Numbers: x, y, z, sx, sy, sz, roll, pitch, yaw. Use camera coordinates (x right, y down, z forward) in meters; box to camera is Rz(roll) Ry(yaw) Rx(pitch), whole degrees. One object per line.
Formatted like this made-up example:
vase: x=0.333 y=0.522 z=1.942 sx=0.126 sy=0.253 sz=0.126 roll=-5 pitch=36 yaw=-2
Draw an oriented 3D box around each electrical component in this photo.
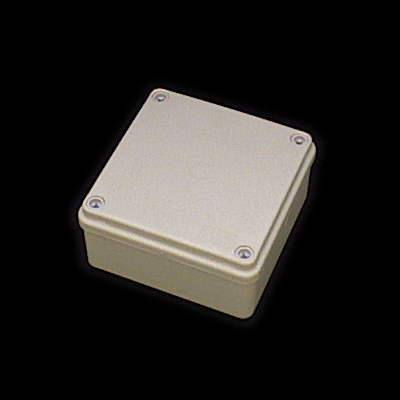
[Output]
electrical component: x=0.000 y=0.000 z=0.631 sx=0.108 sy=0.108 sz=0.056 roll=18 pitch=-36 yaw=13
